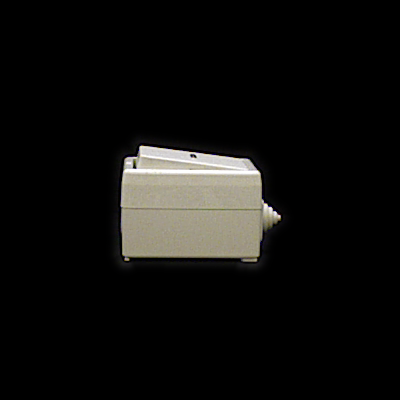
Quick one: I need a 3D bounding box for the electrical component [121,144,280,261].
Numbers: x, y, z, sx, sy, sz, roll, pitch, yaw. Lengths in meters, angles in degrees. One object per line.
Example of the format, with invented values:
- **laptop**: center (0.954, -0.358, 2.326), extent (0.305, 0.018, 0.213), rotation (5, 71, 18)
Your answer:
- **electrical component**: center (0.000, 0.000, 0.644), extent (0.096, 0.061, 0.061), rotation (1, 11, -4)
